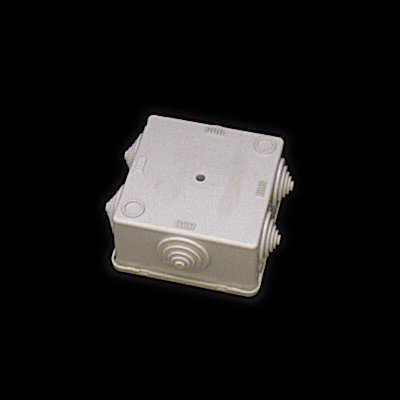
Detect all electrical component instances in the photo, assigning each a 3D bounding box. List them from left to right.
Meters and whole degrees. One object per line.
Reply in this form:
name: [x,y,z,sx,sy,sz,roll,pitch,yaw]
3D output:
electrical component: [0.000,0.000,0.633,0.099,0.099,0.049,11,-37,7]
